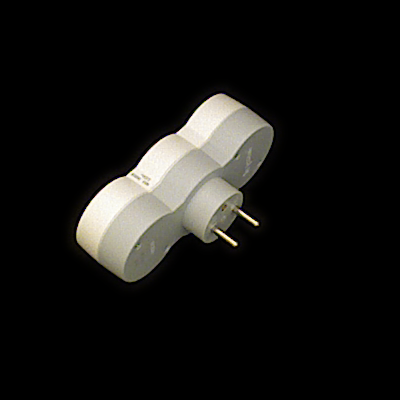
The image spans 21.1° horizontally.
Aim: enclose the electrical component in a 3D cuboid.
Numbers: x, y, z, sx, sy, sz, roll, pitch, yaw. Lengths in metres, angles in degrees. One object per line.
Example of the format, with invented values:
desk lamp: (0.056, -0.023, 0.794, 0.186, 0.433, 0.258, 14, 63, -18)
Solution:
electrical component: (0.000, 0.000, 0.637, 0.073, 0.139, 0.052, 36, -30, 22)
